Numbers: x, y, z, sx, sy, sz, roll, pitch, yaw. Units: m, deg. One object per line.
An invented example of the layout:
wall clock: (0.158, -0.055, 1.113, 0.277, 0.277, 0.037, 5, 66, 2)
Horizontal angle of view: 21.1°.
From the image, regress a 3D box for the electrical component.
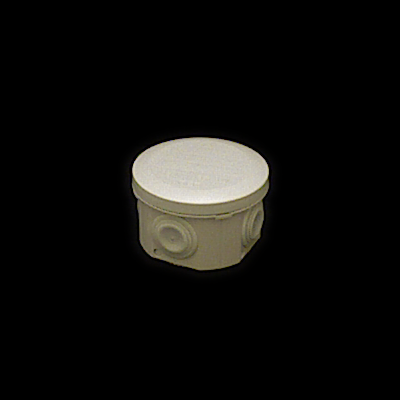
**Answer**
electrical component: (0.000, 0.000, 0.636, 0.080, 0.051, 0.079, 1, 31, 0)
